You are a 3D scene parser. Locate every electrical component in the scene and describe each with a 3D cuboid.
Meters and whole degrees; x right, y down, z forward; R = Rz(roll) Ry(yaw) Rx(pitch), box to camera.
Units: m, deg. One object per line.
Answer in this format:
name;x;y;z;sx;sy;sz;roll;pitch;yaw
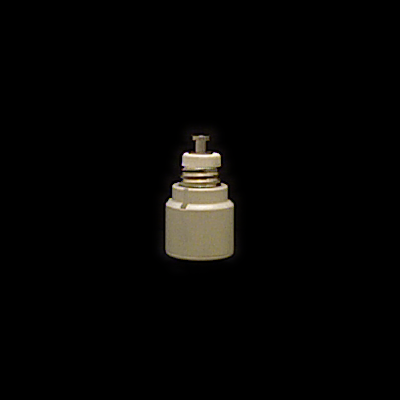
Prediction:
electrical component;0.000;0.000;0.644;0.040;0.079;0.040;1;12;0
